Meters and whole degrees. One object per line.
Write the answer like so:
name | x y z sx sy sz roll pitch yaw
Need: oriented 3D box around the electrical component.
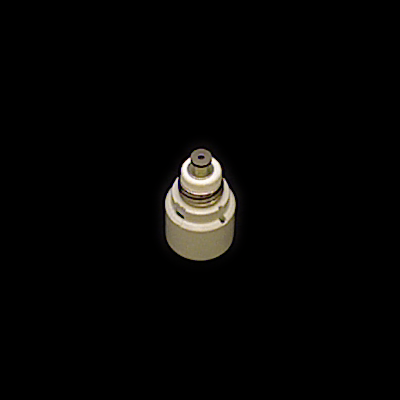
electrical component | 0.000 0.000 0.621 0.040 0.040 0.079 0 -38 -2
